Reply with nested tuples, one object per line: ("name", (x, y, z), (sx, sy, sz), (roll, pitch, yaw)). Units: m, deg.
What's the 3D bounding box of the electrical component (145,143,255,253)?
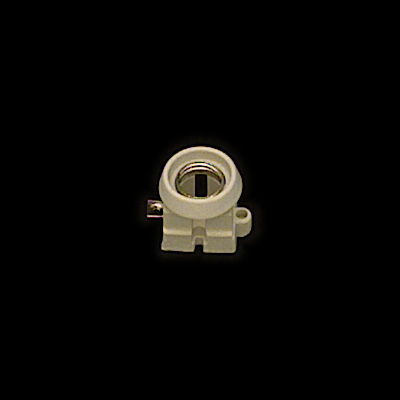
("electrical component", (0.000, 0.000, 0.637), (0.066, 0.048, 0.055), (1, -39, 0))
